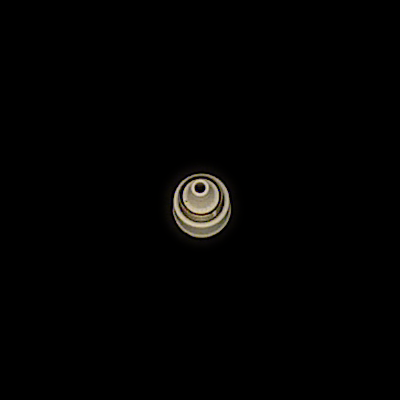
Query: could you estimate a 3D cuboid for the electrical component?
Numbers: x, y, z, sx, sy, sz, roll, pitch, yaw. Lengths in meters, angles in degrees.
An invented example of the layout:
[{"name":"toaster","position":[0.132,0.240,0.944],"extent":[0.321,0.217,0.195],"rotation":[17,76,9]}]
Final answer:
[{"name":"electrical component","position":[0.000,0.000,0.637],"extent":[0.035,0.035,0.061],"rotation":[0,-15,2]}]
